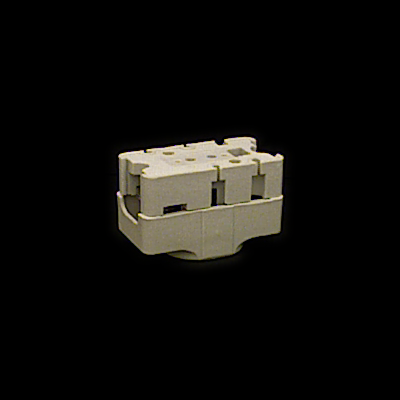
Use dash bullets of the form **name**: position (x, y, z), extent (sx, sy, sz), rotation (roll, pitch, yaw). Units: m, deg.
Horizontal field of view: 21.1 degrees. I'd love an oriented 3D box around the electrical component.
- **electrical component**: position (0.000, 0.000, 0.647), extent (0.090, 0.056, 0.049), rotation (-8, 23, -24)
